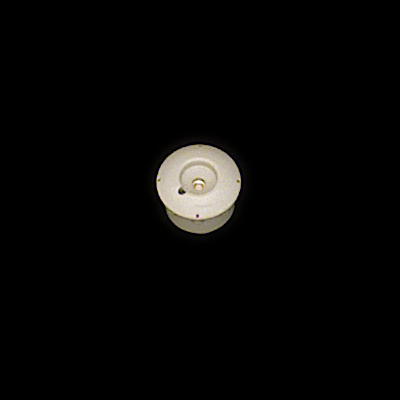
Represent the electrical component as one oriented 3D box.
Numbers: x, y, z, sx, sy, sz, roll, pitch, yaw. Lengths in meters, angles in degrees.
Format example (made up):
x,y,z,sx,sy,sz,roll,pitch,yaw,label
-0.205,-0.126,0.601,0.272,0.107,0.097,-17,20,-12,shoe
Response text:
x,y,z,sx,sy,sz,roll,pitch,yaw,label
0.000,0.000,0.632,0.048,0.048,0.062,0,-27,0,electrical component
